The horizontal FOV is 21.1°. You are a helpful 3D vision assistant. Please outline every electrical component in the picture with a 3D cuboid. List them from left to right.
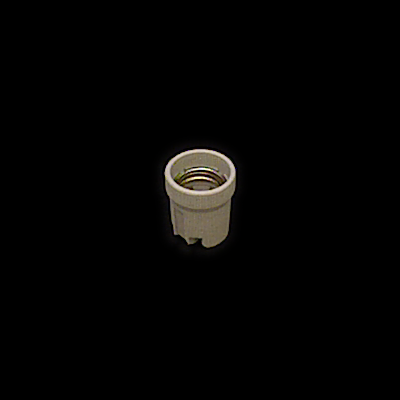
[{"bbox_3d":[0.000,0.000,0.632,0.040,0.047,0.039,1,42,0],"label":"electrical component"}]
